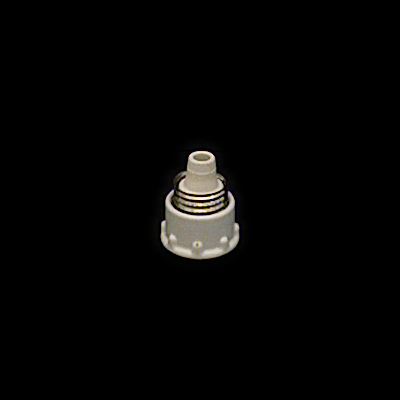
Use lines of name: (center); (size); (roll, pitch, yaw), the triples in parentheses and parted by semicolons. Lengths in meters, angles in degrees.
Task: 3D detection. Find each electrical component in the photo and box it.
electrical component: (0.000, 0.000, 0.643); (0.048, 0.063, 0.047); (2, 32, 0)
